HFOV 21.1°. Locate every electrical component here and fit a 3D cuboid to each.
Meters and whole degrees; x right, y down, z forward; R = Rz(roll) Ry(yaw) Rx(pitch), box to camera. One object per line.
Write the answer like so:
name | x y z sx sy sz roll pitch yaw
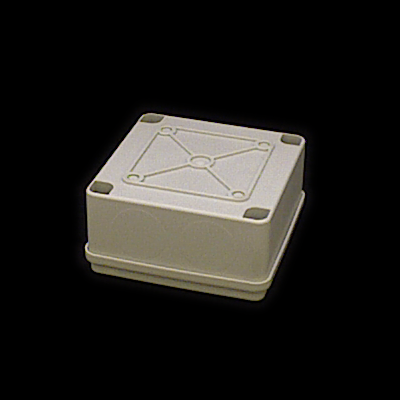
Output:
electrical component | 0.000 0.000 0.634 0.108 0.057 0.107 10 33 13
